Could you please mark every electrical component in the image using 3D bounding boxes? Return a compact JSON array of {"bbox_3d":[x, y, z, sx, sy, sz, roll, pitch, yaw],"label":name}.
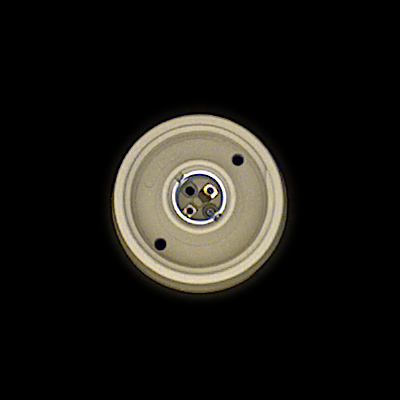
[{"bbox_3d":[0.000,0.000,0.635,0.108,0.108,0.060,0,-6,0],"label":"electrical component"}]
